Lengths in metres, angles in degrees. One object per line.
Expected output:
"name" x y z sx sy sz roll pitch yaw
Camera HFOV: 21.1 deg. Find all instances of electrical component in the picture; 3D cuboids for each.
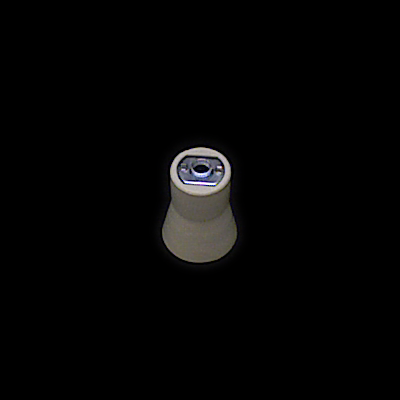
"electrical component" 0.000 0.000 0.625 0.044 0.044 0.065 0 -37 -1
